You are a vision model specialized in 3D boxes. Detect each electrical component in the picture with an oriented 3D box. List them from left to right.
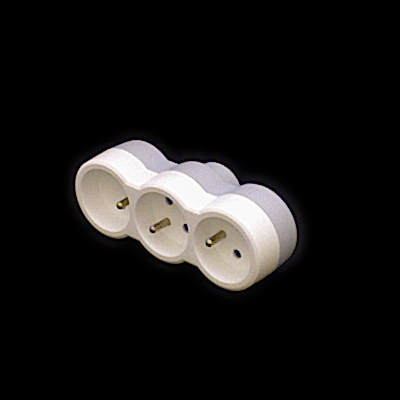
[{"bbox_3d":[0.000,0.000,0.638,0.137,0.053,0.073,22,35,31],"label":"electrical component"}]
